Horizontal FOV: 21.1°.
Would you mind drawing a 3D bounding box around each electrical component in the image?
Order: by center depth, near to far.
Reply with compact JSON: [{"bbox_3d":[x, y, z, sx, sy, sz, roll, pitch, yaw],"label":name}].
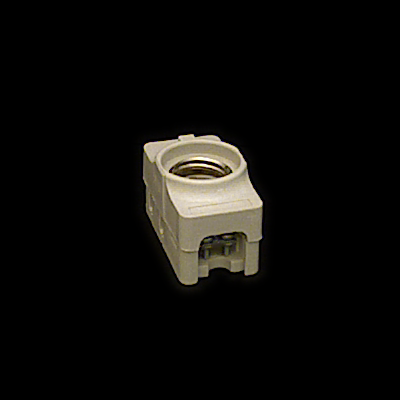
[{"bbox_3d":[0.000,0.000,0.643,0.050,0.056,0.088,-9,34,-15],"label":"electrical component"}]
